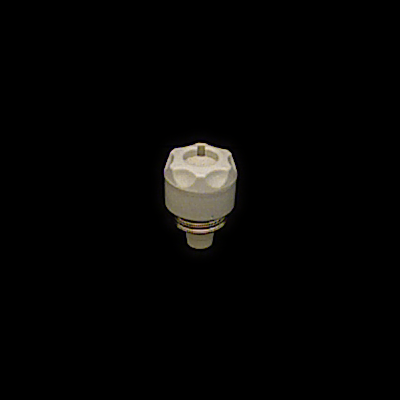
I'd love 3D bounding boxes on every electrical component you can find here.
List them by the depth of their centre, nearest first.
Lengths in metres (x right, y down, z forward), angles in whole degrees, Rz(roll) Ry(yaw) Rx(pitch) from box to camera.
[{"bbox_3d":[0.000,0.000,0.641,0.043,0.063,0.043,1,33,0],"label":"electrical component"}]
